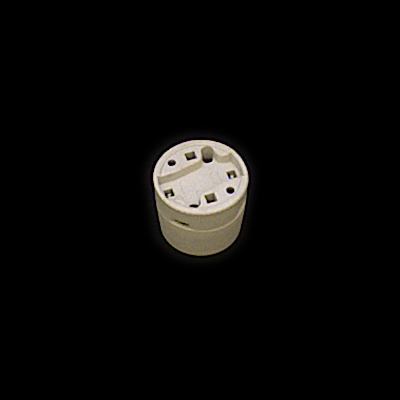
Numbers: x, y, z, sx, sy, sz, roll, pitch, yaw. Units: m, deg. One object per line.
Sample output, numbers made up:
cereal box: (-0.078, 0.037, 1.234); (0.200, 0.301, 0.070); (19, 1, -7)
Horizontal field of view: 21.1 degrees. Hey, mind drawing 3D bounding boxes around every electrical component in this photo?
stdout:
electrical component: (0.000, 0.000, 0.634); (0.055, 0.055, 0.047); (0, -38, 0)
